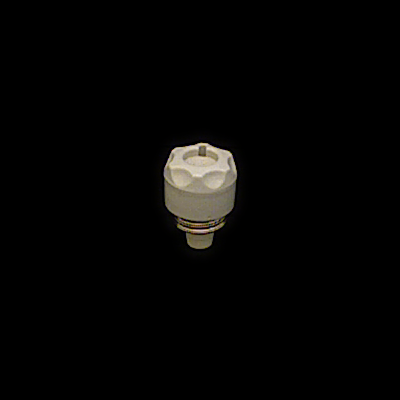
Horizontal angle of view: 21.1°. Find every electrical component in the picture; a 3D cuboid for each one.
[{"bbox_3d":[0.000,0.000,0.641,0.043,0.063,0.043,1,33,0],"label":"electrical component"}]
